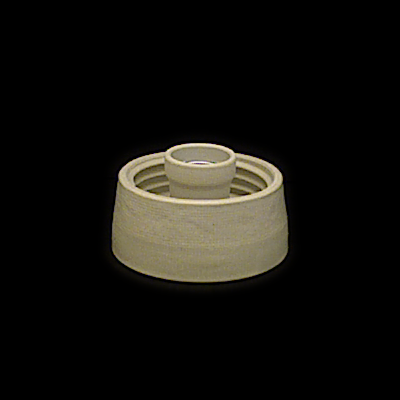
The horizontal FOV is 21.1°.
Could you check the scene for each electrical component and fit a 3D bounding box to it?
[{"bbox_3d":[0.000,0.000,0.645,0.108,0.061,0.106,1,22,0],"label":"electrical component"}]
